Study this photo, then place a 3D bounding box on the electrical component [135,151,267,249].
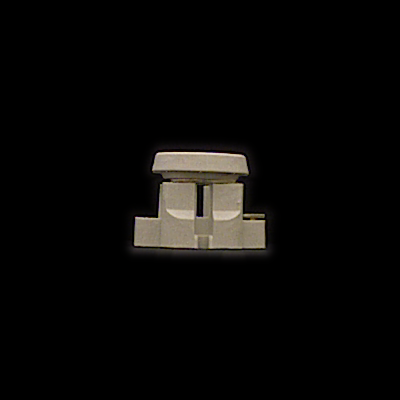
[{"bbox_3d":[0.001,0.000,0.650,0.078,0.057,0.058,1,1,-5],"label":"electrical component"}]
